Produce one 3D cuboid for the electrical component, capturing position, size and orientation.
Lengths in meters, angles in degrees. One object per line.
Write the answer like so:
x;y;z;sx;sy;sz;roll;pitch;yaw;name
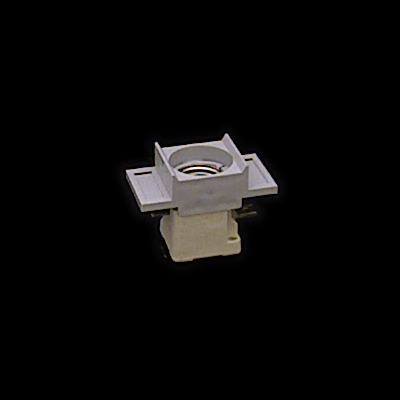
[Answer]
0.000;0.000;0.634;0.081;0.064;0.041;-8;31;-13;electrical component
